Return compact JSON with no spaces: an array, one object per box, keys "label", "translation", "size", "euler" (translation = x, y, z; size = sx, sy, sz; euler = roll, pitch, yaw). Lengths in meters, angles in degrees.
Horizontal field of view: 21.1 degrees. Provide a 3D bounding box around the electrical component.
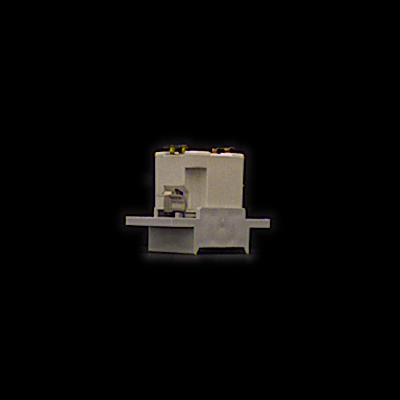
[{"label":"electrical component","translation":[0.000,0.000,0.649],"size":[0.081,0.064,0.042],"euler":[1,1,-44]}]
